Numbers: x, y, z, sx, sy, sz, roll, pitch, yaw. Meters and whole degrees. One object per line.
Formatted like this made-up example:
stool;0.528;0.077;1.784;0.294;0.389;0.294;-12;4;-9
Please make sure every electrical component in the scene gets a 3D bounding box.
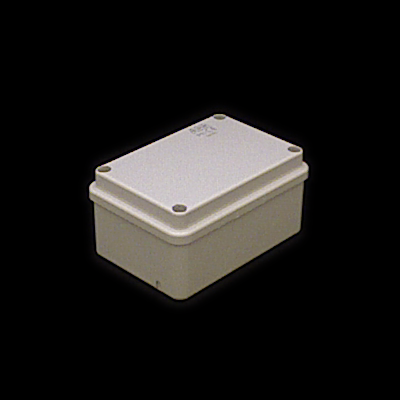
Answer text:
electrical component;0.000;0.000;0.636;0.077;0.058;0.113;27;40;36
